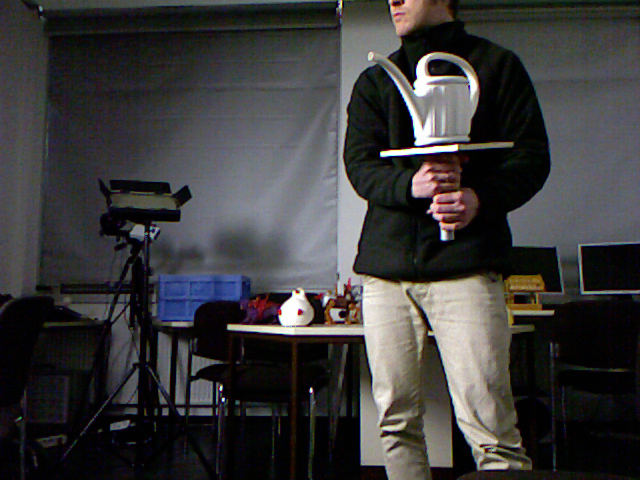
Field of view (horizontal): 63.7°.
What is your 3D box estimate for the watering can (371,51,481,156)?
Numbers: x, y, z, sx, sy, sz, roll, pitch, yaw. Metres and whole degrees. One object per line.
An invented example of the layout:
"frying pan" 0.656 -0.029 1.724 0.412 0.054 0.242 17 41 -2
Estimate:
"watering can" 0.237 -0.295 1.117 0.350 0.223 0.104 -10 13 -37
